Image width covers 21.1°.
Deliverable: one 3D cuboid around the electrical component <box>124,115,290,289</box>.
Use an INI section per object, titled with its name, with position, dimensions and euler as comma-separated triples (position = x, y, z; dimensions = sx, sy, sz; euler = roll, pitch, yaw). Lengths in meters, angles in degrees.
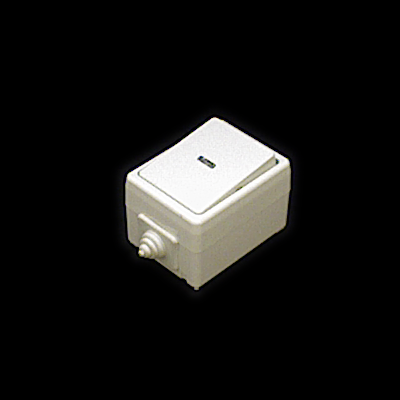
[electrical component]
position = 0.000, 0.000, 0.629
dimensions = 0.061, 0.061, 0.096
euler = 34, 51, 32
